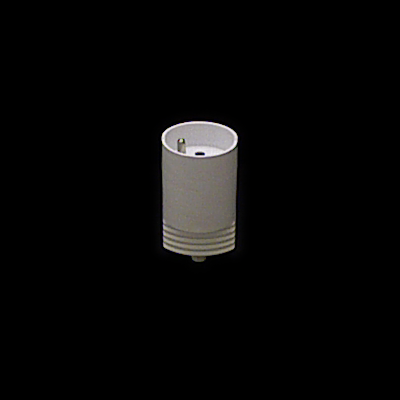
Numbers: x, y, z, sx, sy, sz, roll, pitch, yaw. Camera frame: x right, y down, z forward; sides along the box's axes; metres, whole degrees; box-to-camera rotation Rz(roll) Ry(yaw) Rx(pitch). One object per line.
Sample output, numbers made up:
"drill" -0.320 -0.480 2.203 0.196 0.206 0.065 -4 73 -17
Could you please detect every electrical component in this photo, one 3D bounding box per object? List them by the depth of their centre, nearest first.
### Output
"electrical component" 0.000 0.000 0.626 0.043 0.082 0.042 0 31 0
